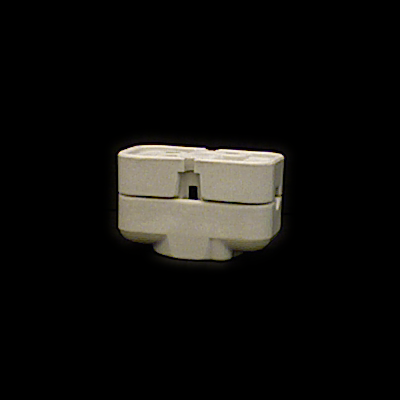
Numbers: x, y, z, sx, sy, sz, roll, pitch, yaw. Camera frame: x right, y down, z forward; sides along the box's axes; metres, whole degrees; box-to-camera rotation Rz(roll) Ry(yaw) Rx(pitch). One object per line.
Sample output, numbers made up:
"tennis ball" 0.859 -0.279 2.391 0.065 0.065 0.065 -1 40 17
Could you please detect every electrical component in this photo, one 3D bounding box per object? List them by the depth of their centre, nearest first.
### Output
"electrical component" 0.000 0.000 0.648 0.095 0.060 0.053 5 12 14
